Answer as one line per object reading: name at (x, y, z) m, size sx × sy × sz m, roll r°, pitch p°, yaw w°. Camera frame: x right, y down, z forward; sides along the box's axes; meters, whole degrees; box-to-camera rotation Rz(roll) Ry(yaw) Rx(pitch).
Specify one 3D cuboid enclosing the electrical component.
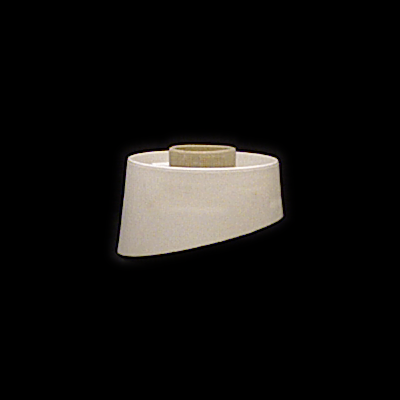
electrical component at (0.000, 0.000, 0.644) m, size 0.099 × 0.064 × 0.098 m, roll 1°, pitch 10°, yaw 0°
